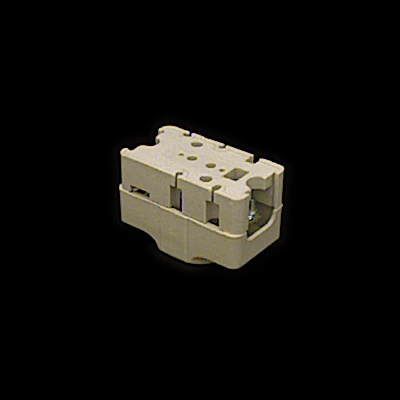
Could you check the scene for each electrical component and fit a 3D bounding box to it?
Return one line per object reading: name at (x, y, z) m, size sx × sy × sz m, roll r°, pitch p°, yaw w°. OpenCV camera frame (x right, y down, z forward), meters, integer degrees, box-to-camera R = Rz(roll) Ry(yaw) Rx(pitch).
electrical component at (0.000, 0.000, 0.643) m, size 0.088 × 0.056 × 0.050 m, roll 23°, pitch 38°, yaw 30°
